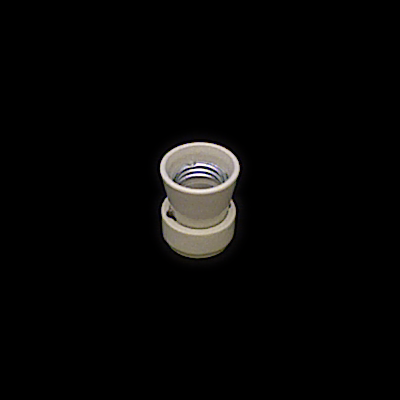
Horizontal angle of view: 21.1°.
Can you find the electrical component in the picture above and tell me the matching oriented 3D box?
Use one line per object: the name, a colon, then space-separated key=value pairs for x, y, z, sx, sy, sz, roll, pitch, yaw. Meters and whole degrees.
electrical component: x=0.000 y=0.000 z=0.631 sx=0.045 sy=0.055 sz=0.044 roll=0 pitch=43 yaw=0
